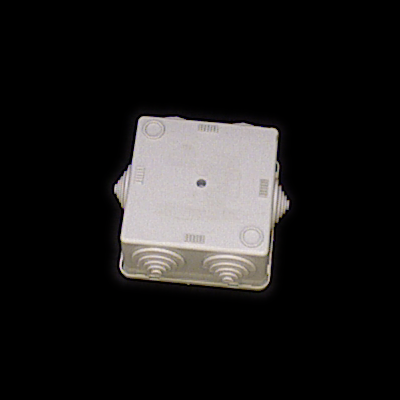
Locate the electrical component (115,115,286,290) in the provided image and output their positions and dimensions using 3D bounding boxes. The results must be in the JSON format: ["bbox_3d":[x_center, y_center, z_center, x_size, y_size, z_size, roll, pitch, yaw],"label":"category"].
[{"bbox_3d":[0.000,0.000,0.631,0.100,0.100,0.048,6,-27,3],"label":"electrical component"}]
